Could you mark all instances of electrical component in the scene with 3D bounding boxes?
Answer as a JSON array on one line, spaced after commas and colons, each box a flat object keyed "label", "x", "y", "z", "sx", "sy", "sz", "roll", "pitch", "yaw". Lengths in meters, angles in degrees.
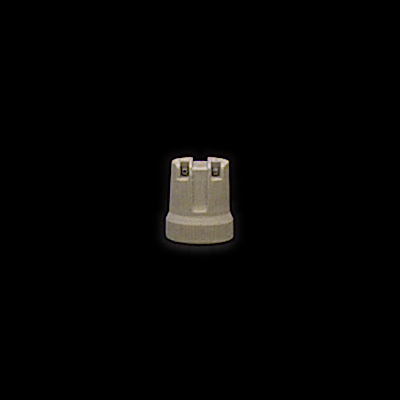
[{"label": "electrical component", "x": 0.000, "y": 0.000, "z": 0.645, "sx": 0.040, "sy": 0.046, "sz": 0.040, "roll": 1, "pitch": 11, "yaw": 0}]
